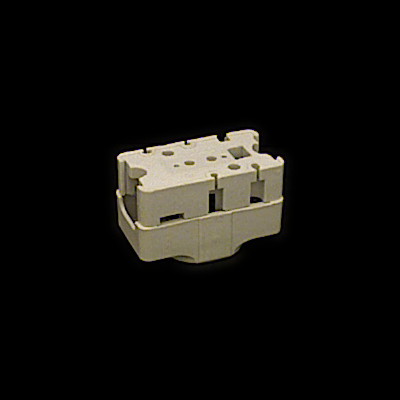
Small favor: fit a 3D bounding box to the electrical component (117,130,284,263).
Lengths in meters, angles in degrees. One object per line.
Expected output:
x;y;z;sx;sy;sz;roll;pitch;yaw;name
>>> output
0.000;0.000;0.643;0.090;0.056;0.049;-11;34;-20;electrical component
